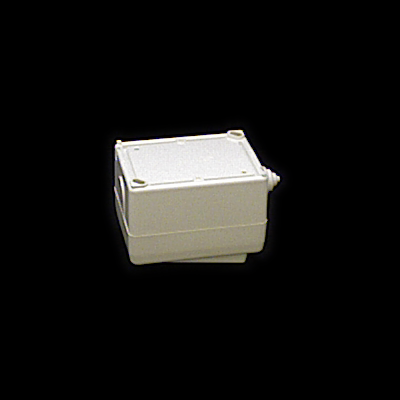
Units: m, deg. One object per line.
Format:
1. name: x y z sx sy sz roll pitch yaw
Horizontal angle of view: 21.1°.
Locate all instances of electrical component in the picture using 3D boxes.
1. electrical component: 0.000 0.000 0.638 0.096 0.062 0.061 -6 31 -11
